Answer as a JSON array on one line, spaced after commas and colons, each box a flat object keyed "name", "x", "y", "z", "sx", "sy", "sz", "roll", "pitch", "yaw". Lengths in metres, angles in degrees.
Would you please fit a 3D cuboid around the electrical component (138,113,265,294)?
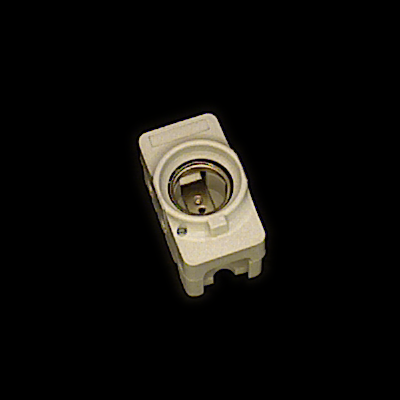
[{"name": "electrical component", "x": 0.000, "y": 0.000, "z": 0.635, "sx": 0.050, "sy": 0.089, "sz": 0.055, "roll": -18, "pitch": -25, "yaw": -8}]
